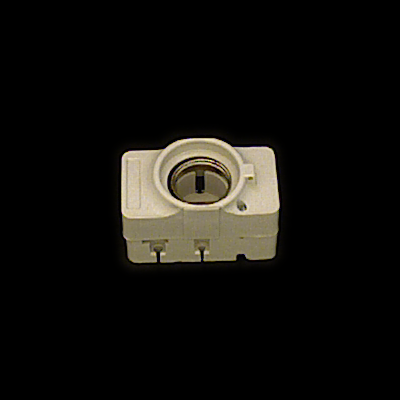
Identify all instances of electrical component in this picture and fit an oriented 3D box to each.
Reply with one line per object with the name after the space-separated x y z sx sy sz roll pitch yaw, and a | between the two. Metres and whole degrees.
0.000 0.000 0.637 0.090 0.050 0.056 -2 -37 -2 | electrical component
